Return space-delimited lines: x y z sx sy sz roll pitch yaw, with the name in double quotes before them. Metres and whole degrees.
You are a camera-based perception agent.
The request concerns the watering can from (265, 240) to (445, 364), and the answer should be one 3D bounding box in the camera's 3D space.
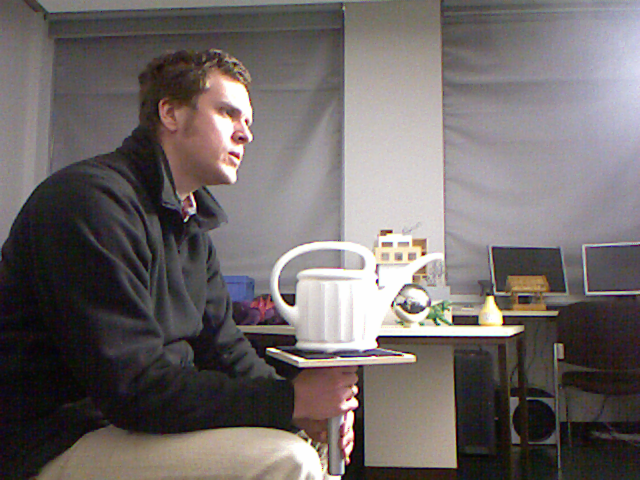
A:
"watering can" 0.071 0.114 0.922 0.348 0.225 0.104 2 -1 -19
